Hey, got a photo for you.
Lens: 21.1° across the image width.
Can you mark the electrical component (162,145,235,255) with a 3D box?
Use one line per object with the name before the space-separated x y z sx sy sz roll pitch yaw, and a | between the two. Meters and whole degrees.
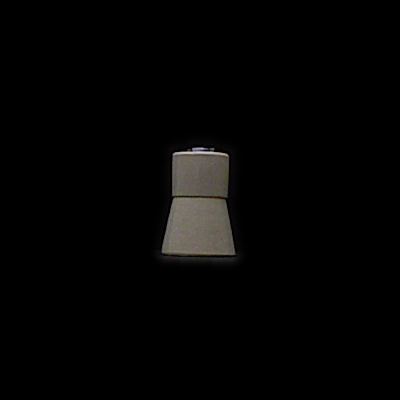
electrical component | 0.000 0.000 0.650 0.044 0.065 0.044 2 0 0
